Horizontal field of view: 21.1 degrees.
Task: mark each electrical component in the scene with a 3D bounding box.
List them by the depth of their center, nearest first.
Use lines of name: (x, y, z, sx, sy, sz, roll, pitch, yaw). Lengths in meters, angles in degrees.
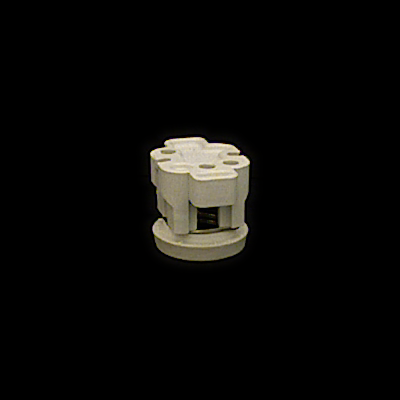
electrical component: (0.000, 0.000, 0.647, 0.058, 0.057, 0.077, -6, 22, -16)
